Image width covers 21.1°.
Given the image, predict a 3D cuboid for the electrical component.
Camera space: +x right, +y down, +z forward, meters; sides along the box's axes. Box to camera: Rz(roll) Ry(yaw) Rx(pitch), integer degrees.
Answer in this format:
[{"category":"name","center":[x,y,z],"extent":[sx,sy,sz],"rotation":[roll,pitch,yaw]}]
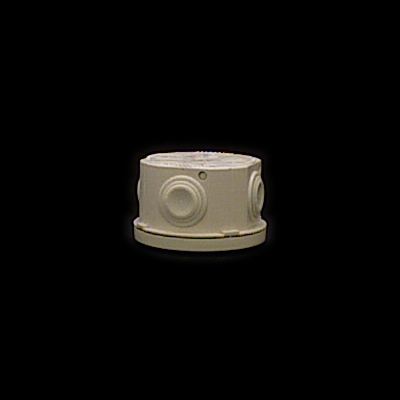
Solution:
[{"category":"electrical component","center":[0.000,0.000,0.646],"extent":[0.080,0.051,0.079],"rotation":[1,10,0]}]
